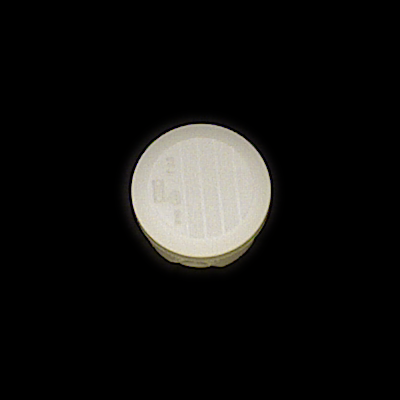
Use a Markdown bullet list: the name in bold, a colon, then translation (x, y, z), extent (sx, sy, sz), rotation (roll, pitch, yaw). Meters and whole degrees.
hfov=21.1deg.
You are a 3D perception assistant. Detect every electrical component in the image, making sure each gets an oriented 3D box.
- **electrical component**: translation (0.000, 0.000, 0.631), extent (0.080, 0.080, 0.050), rotation (0, -17, 0)
